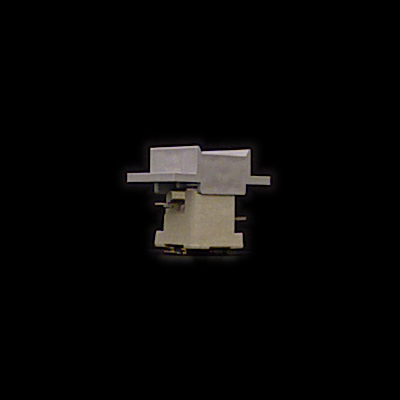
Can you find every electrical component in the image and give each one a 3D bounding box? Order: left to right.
[{"bbox_3d":[0.000,0.000,0.652,0.081,0.064,0.042,0,0,-43],"label":"electrical component"}]
